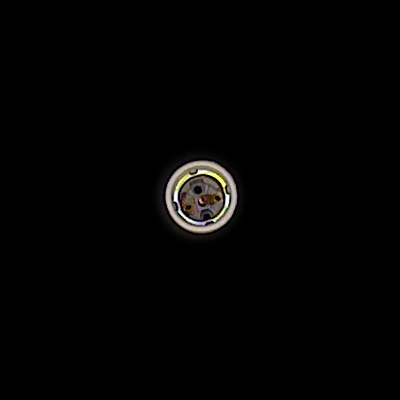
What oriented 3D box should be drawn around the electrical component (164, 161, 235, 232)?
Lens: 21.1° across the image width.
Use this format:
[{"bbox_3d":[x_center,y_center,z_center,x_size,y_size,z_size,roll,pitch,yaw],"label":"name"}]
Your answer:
[{"bbox_3d":[0.000,0.000,0.628,0.040,0.040,0.046,0,-7,0],"label":"electrical component"}]
